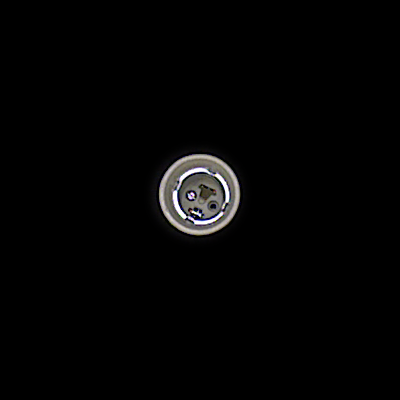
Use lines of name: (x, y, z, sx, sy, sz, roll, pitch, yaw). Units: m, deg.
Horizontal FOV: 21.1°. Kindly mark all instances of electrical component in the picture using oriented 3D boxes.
electrical component: (0.000, 0.000, 0.625, 0.044, 0.044, 0.065, 0, -6, 2)
